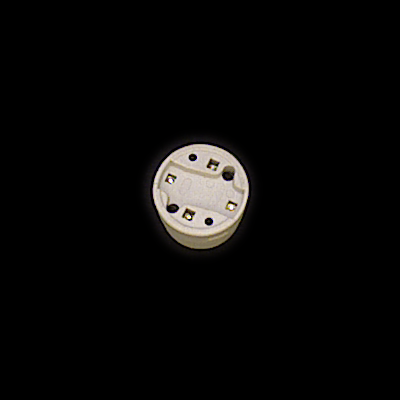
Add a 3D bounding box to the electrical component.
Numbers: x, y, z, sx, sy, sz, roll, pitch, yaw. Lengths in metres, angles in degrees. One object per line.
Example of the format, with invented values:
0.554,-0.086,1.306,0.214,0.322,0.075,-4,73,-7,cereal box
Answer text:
0.000,0.000,0.635,0.055,0.056,0.047,0,-17,1,electrical component
